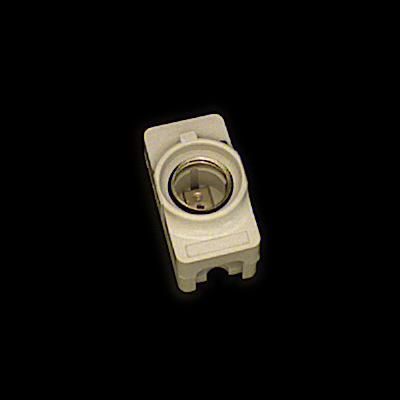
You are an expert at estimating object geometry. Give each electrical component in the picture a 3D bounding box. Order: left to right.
[{"bbox_3d":[0.000,0.000,0.636,0.050,0.089,0.055,-14,-25,-6],"label":"electrical component"}]
